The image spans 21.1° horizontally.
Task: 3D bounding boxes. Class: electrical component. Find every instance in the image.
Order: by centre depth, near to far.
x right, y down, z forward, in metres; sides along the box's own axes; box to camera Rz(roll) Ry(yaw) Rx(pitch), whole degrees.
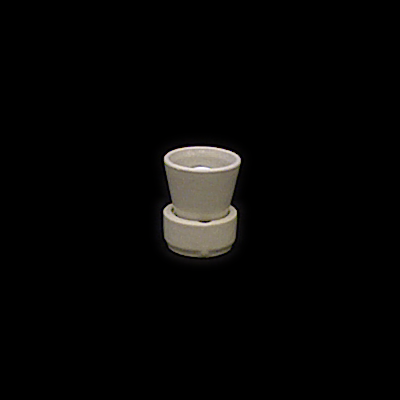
[{"bbox_3d":[0.000,0.000,0.641,0.045,0.056,0.044,2,21,0],"label":"electrical component"}]
